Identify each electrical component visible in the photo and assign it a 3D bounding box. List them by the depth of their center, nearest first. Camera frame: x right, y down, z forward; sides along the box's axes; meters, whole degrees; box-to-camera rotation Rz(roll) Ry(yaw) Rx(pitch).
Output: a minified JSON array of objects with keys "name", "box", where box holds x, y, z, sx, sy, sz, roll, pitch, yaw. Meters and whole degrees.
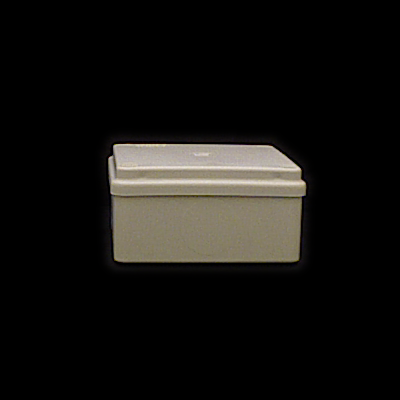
[{"name":"electrical component","box":[0.000,0.000,0.643,0.109,0.056,0.108,0,11,-6]}]
